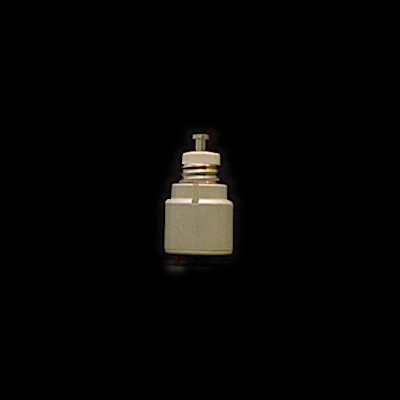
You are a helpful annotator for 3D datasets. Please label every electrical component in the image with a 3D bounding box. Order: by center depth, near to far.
[{"bbox_3d":[0.000,0.000,0.651,0.040,0.078,0.040,2,2,0],"label":"electrical component"}]
